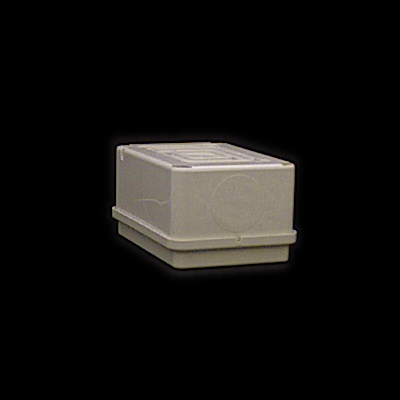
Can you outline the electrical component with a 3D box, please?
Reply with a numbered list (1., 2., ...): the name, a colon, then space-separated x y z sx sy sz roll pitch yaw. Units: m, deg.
1. electrical component: 0.000 0.000 0.644 0.078 0.057 0.112 -3 12 -22
